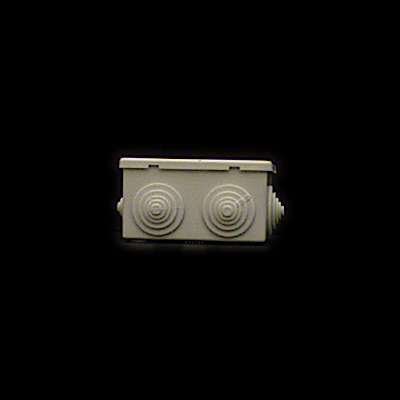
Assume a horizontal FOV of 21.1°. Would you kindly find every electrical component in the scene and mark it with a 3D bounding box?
[{"bbox_3d":[0.000,0.000,0.658,0.099,0.048,0.100,1,1,5],"label":"electrical component"}]
